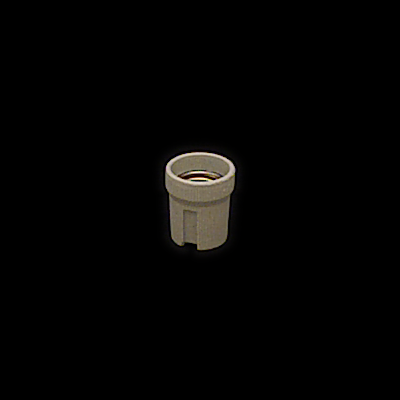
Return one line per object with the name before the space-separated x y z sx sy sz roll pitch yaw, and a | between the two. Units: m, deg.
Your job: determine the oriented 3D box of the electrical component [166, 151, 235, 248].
electrical component | 0.000 0.000 0.638 0.040 0.047 0.039 1 31 0
